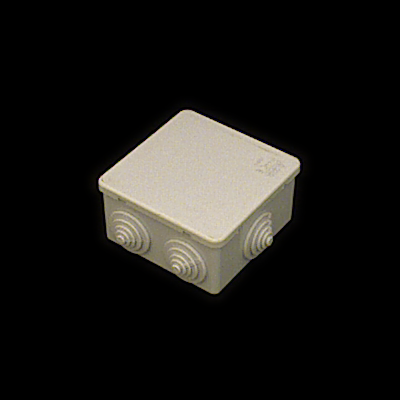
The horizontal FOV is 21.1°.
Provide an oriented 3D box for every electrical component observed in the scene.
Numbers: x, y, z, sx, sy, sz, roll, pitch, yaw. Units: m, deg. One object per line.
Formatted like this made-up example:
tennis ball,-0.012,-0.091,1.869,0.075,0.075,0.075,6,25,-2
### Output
electrical component,0.000,0.000,0.643,0.099,0.049,0.100,27,48,25
